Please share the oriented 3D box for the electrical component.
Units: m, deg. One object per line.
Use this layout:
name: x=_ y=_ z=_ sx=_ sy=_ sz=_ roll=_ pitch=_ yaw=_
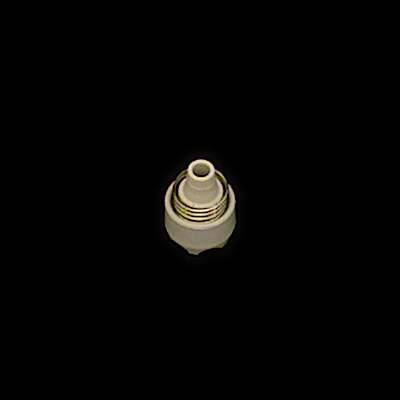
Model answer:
electrical component: x=0.000 y=0.000 z=0.635 sx=0.043 sy=0.043 sz=0.062 roll=0 pitch=-36 yaw=-1
